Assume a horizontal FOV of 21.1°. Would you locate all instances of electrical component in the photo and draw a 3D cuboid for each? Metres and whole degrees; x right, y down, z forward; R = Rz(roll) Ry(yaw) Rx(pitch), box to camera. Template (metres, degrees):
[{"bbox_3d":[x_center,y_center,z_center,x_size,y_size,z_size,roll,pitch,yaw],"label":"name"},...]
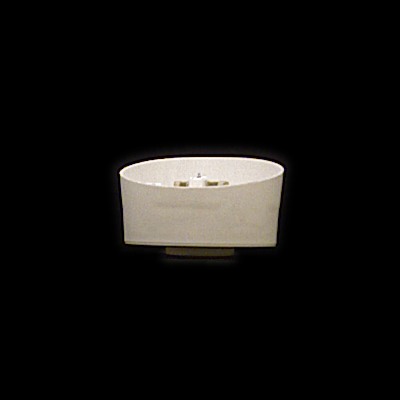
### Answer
[{"bbox_3d":[0.000,0.000,0.650,0.099,0.064,0.099,1,-1,0],"label":"electrical component"}]
